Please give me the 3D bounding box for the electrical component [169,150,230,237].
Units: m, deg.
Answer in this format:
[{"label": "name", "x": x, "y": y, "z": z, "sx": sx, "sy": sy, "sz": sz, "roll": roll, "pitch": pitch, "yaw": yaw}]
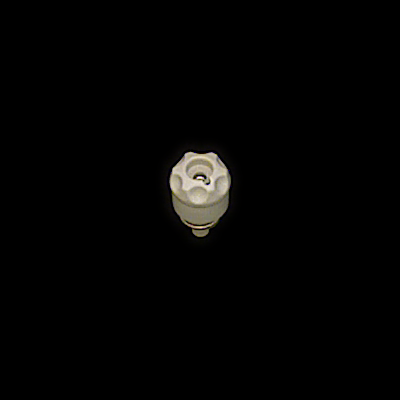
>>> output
[{"label": "electrical component", "x": 0.000, "y": 0.000, "z": 0.633, "sx": 0.035, "sy": 0.035, "sz": 0.061, "roll": 0, "pitch": -37, "yaw": 0}]
